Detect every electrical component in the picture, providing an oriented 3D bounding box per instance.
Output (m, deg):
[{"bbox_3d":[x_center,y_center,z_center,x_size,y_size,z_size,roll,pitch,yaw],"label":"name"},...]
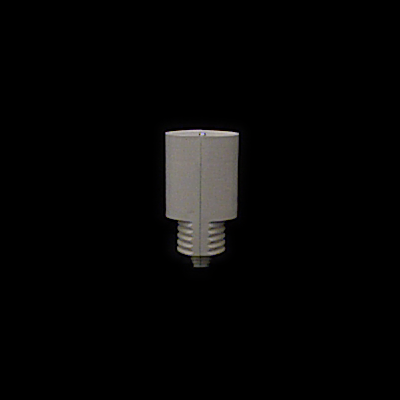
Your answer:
[{"bbox_3d":[0.000,0.000,0.643,0.043,0.081,0.043,2,11,0],"label":"electrical component"}]
